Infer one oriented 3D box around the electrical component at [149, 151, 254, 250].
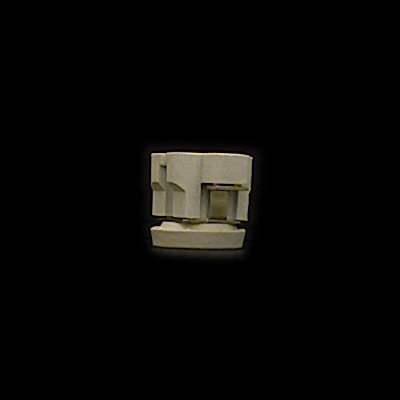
[{"bbox_3d":[0.000,0.000,0.656,0.058,0.057,0.078,1,2,-30],"label":"electrical component"}]
